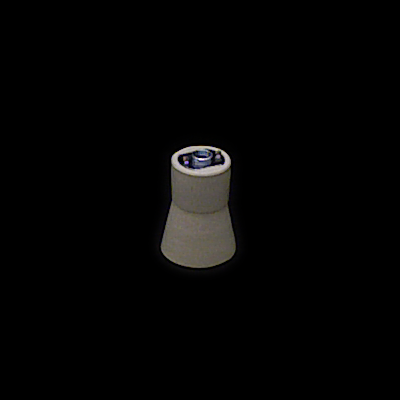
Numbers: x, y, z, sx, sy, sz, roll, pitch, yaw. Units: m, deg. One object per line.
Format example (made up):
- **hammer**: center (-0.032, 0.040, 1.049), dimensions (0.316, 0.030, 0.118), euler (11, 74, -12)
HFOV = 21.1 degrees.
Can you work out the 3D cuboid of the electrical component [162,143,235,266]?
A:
- **electrical component**: center (0.000, 0.000, 0.631), dimensions (0.044, 0.066, 0.044), euler (1, 32, -1)
